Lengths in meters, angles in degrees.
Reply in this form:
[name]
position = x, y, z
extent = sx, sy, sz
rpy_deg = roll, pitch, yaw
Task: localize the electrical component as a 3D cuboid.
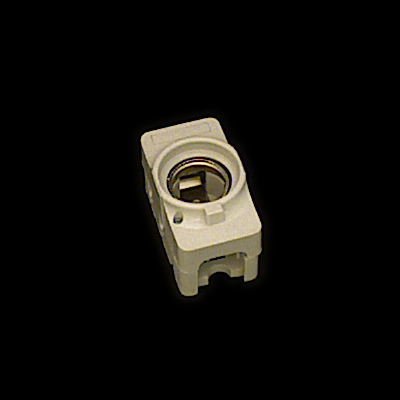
[electrical component]
position = 0.000, 0.000, 0.637
extent = 0.050, 0.089, 0.056
rpy_deg = -14, -36, -11
